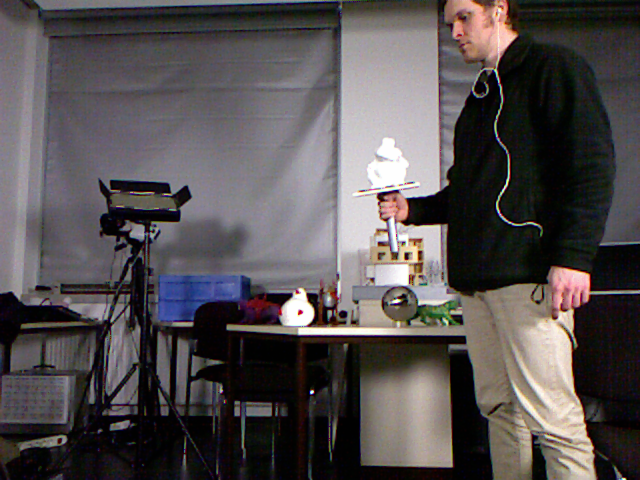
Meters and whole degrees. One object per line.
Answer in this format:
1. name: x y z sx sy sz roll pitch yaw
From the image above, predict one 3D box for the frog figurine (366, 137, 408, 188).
1. frog figurine: 0.212 -0.252 1.667 0.137 0.159 0.124 -4 7 28
